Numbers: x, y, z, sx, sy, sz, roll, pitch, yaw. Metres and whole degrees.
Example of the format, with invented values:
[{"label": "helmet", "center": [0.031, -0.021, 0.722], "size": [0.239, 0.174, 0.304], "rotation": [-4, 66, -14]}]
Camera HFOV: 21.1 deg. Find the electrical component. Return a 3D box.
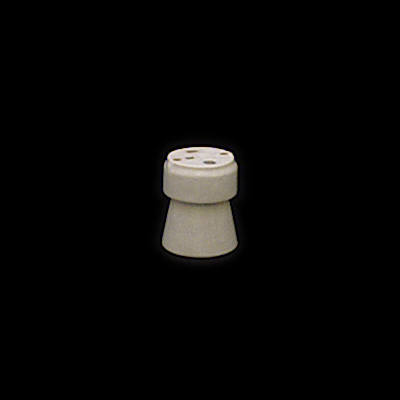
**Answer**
[{"label": "electrical component", "center": [0.000, 0.000, 0.641], "size": [0.045, 0.056, 0.044], "rotation": [1, 21, 0]}]
